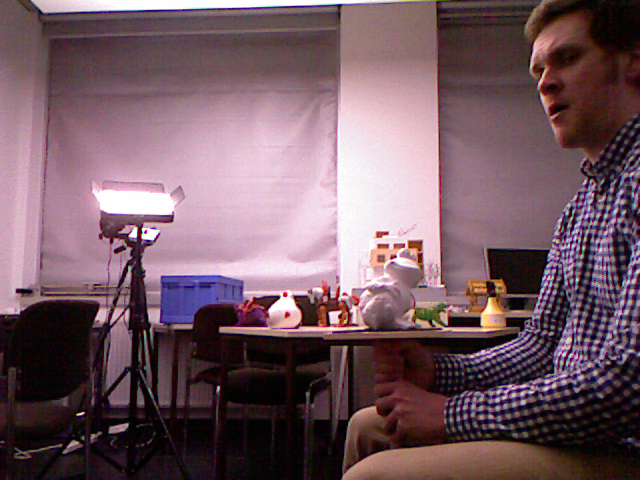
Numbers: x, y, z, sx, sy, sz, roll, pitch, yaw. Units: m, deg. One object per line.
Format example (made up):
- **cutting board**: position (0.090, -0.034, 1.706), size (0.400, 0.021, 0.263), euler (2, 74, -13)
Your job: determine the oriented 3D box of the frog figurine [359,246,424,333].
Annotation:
- **frog figurine**: position (0.132, 0.092, 0.963), size (0.122, 0.161, 0.137), euler (-7, -10, 31)
